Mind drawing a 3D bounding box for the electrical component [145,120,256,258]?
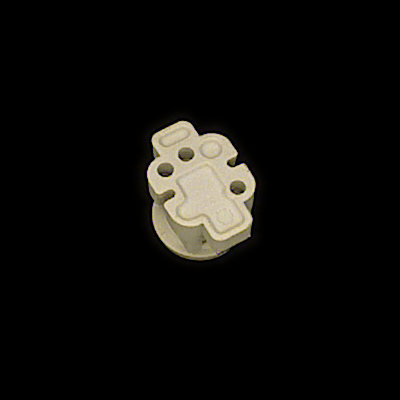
[{"bbox_3d":[0.000,0.000,0.635,0.058,0.078,0.056,-28,-22,-14],"label":"electrical component"}]
